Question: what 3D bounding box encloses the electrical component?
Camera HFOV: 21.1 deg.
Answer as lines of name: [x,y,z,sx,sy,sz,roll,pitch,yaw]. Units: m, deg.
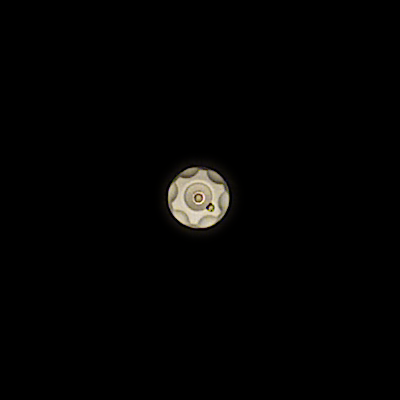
electrical component: [0.000,0.000,0.634,0.035,0.035,0.061,0,-5,1]
